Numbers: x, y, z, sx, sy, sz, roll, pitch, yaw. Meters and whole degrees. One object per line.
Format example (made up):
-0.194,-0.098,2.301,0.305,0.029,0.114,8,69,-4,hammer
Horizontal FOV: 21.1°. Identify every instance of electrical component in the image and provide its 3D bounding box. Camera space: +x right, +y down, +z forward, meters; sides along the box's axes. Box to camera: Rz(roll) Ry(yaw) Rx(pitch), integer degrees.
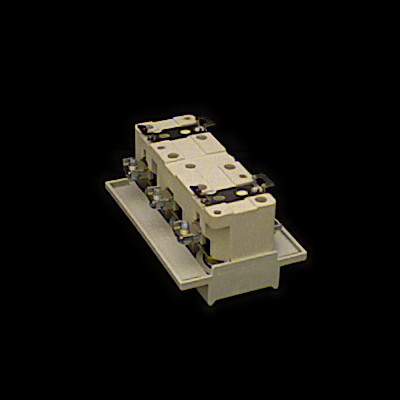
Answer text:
0.000,0.000,0.643,0.079,0.064,0.119,-13,35,-21,electrical component
